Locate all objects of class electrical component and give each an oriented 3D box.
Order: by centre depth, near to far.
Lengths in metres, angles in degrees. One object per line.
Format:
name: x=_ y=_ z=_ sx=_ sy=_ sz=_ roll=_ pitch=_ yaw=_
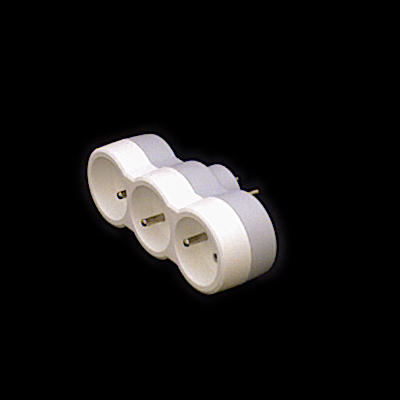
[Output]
electrical component: x=0.000 y=0.000 z=0.638 sx=0.074 sy=0.053 sz=0.136 roll=-20 pitch=36 yaw=-33
